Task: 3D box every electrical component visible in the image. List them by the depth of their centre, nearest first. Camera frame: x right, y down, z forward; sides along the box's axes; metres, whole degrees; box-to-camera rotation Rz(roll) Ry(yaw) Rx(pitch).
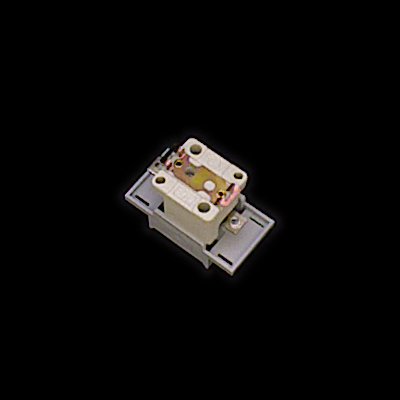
[{"bbox_3d":[0.000,0.000,0.626,0.081,0.042,0.063,34,-22,16],"label":"electrical component"}]
